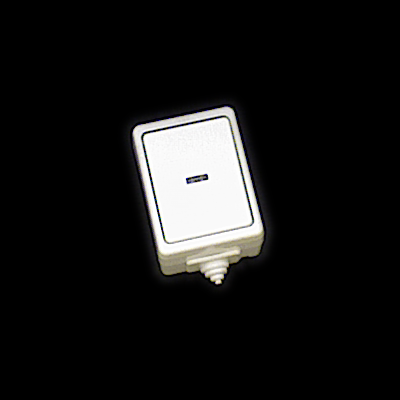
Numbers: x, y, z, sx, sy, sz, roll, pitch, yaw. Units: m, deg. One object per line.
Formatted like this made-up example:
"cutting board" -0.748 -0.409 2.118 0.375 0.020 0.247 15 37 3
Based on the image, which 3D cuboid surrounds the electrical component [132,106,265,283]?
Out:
"electrical component" 0.000 0.000 0.625 0.062 0.097 0.060 -12 -17 -4
